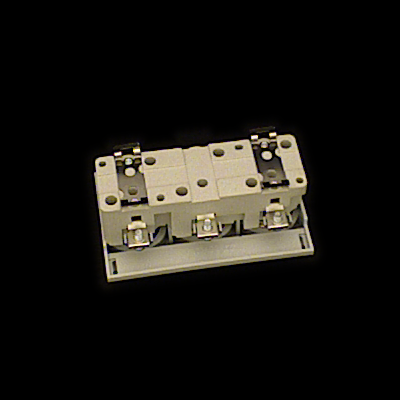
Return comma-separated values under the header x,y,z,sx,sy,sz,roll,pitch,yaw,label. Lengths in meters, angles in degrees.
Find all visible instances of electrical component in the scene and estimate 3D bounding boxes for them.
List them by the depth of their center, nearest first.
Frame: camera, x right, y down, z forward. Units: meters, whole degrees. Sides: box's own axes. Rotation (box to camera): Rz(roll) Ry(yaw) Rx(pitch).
x,y,z,sx,sy,sz,roll,pitch,yaw,label
0.000,0.000,0.637,0.122,0.078,0.063,-7,-37,-6,electrical component
